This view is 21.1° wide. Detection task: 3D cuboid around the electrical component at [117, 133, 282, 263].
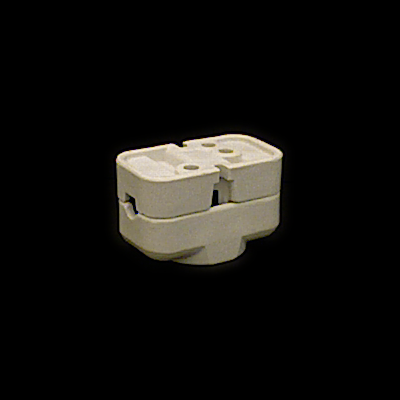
[{"bbox_3d":[0.000,0.000,0.646,0.096,0.060,0.052,-12,26,-30],"label":"electrical component"}]
